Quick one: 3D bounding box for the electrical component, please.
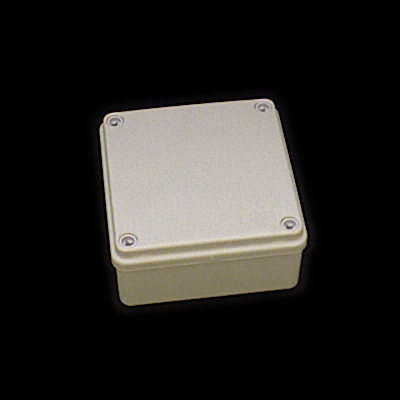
[{"bbox_3d":[0.000,0.000,0.631,0.109,0.108,0.056,-6,-38,-5],"label":"electrical component"}]
